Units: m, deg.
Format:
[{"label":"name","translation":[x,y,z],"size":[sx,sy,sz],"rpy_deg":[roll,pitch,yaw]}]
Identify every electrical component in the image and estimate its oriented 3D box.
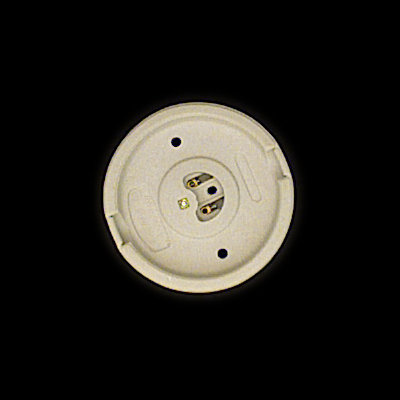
[{"label":"electrical component","translation":[0.000,0.000,0.634],"size":[0.108,0.108,0.060],"rpy_deg":[0,-6,0]}]
